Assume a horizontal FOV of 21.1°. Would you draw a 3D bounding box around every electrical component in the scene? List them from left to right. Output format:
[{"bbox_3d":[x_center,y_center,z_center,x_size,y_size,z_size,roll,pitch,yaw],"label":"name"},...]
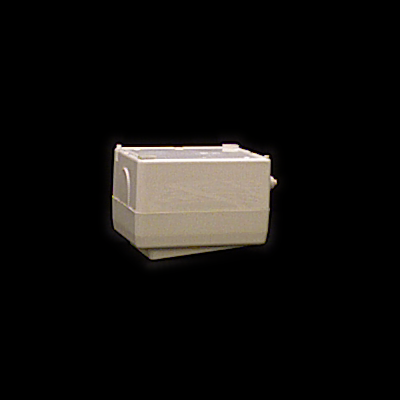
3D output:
[{"bbox_3d":[0.000,0.000,0.642,0.096,0.061,0.061,-1,11,-19],"label":"electrical component"}]
